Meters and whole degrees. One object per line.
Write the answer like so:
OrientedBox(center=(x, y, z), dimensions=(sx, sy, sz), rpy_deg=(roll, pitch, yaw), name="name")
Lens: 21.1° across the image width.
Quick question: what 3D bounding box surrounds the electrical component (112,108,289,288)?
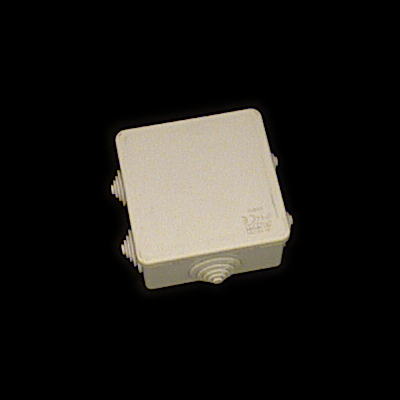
OrientedBox(center=(0.000, 0.000, 0.640), dimensions=(0.100, 0.099, 0.048), rpy_deg=(-10, -26, -5), name="electrical component")
